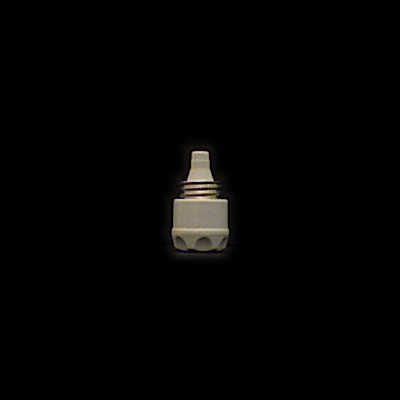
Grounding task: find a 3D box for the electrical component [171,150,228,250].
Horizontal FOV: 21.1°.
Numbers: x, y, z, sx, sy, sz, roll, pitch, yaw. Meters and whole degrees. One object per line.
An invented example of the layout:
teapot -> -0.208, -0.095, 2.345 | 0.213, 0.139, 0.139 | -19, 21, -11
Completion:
electrical component -> 0.000, 0.000, 0.661 | 0.035, 0.061, 0.035 | 0, 1, 0
